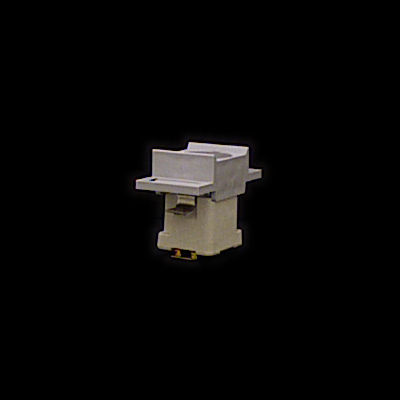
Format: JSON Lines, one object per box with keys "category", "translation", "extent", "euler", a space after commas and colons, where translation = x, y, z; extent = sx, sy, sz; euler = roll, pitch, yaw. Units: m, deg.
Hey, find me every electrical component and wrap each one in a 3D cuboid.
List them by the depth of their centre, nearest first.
{"category": "electrical component", "translation": [0.000, 0.000, 0.647], "extent": [0.042, 0.064, 0.080], "euler": [6, 12, 29]}
